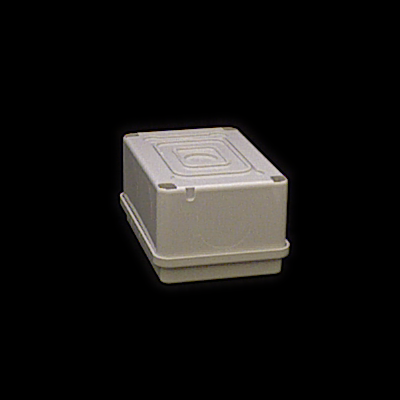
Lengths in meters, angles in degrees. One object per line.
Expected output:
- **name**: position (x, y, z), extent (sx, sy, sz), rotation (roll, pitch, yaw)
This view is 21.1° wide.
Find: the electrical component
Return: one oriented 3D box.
- **electrical component**: position (0.000, 0.000, 0.639), extent (0.078, 0.058, 0.111), rotation (-4, 21, -14)
